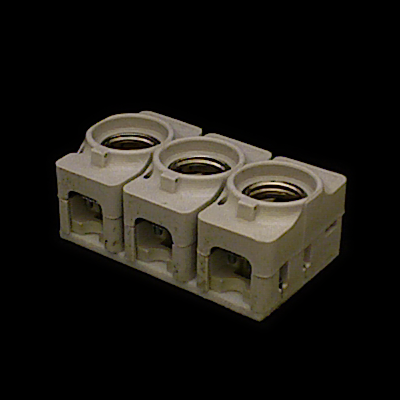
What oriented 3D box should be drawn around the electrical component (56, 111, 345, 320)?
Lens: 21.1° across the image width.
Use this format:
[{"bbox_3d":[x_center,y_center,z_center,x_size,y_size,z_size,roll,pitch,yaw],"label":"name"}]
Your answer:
[{"bbox_3d":[0.000,0.000,0.639,0.149,0.063,0.088,20,37,29],"label":"electrical component"}]
